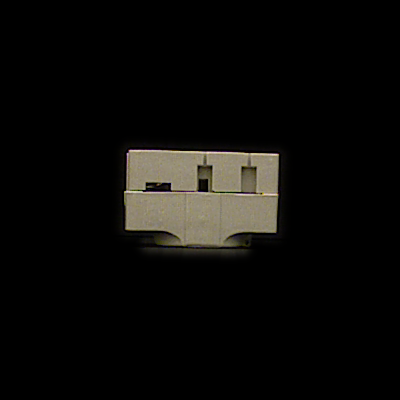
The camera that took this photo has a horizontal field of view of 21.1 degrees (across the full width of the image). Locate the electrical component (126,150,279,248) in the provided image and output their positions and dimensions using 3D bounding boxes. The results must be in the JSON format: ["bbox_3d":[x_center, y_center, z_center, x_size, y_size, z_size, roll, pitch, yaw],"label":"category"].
[{"bbox_3d":[0.000,0.000,0.657,0.090,0.056,0.050,2,1,-6],"label":"electrical component"}]
